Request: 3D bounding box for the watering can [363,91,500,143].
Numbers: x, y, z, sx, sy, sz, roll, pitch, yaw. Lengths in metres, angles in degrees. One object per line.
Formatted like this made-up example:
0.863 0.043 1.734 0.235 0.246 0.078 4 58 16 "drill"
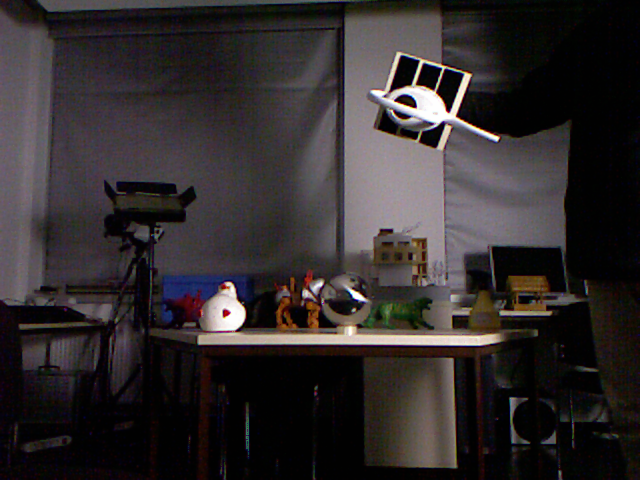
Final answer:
0.280 -0.313 1.328 0.349 0.103 0.227 21 16 8 "watering can"
